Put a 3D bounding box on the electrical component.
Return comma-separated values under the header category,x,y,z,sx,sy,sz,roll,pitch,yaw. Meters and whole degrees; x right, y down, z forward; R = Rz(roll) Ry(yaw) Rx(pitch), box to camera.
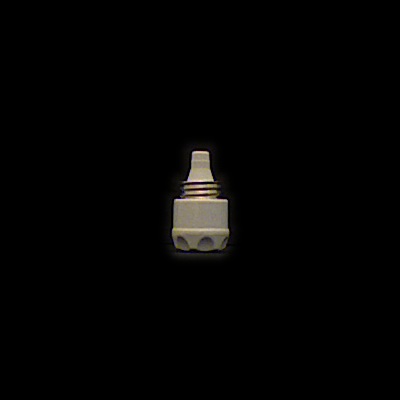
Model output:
category,x,y,z,sx,sy,sz,roll,pitch,yaw
electrical component,0.000,0.000,0.661,0.035,0.061,0.035,0,1,0
